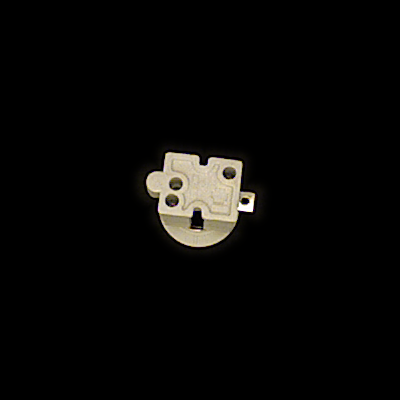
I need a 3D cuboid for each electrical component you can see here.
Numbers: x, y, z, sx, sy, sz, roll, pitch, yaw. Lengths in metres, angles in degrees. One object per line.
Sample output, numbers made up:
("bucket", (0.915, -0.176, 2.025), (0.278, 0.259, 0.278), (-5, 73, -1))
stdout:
("electrical component", (0.000, 0.000, 0.637), (0.066, 0.048, 0.055), (7, -17, 1))
